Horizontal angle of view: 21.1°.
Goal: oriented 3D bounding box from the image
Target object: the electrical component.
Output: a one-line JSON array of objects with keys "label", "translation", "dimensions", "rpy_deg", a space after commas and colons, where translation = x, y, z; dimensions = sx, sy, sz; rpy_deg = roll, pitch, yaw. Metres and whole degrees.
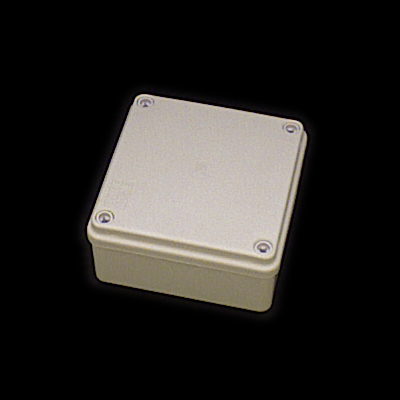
[{"label": "electrical component", "translation": [0.000, 0.000, 0.631], "dimensions": [0.108, 0.108, 0.056], "rpy_deg": [11, -37, 7]}]
